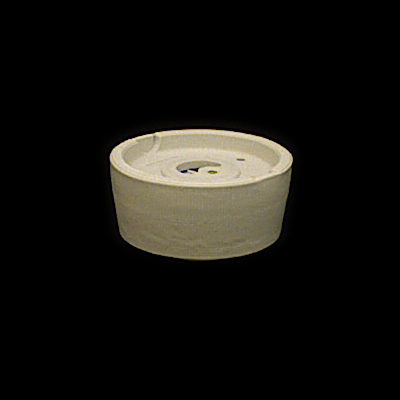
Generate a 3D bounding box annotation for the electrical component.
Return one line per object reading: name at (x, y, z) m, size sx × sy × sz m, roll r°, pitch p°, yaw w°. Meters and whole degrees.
electrical component at (0.000, 0.000, 0.645) m, size 0.108 × 0.061 × 0.106 m, roll 1°, pitch 21°, yaw 0°
